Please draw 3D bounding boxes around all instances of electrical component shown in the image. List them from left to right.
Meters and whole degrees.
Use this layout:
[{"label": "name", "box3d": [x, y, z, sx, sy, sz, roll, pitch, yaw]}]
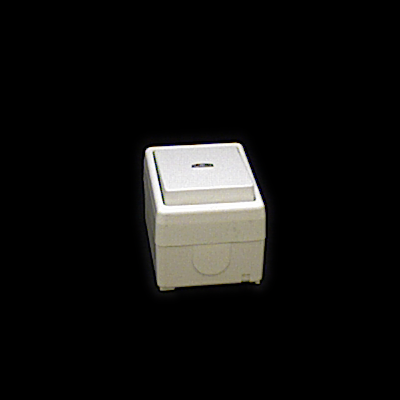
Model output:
[{"label": "electrical component", "box3d": [0.000, 0.000, 0.636, 0.062, 0.062, 0.095, -3, 31, -7]}]
